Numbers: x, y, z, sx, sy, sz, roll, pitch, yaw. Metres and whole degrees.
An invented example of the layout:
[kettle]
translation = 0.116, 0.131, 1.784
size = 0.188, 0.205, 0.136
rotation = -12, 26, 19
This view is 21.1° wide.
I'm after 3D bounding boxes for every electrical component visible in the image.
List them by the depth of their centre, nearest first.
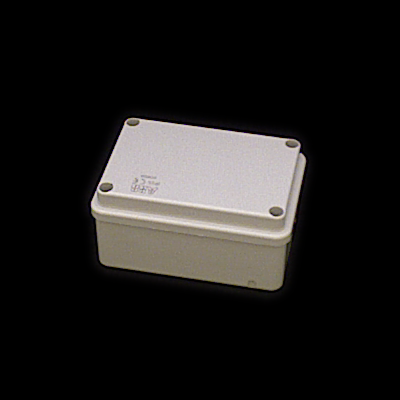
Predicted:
[electrical component]
translation = 0.000, 0.000, 0.629
size = 0.113, 0.057, 0.077
rotation = 8, 42, 8
